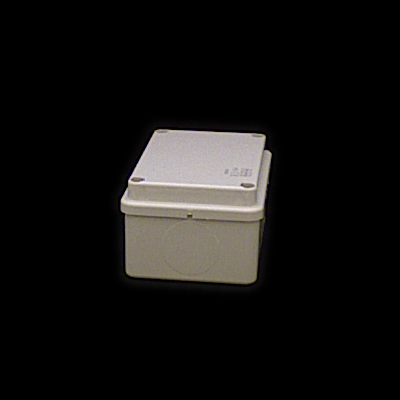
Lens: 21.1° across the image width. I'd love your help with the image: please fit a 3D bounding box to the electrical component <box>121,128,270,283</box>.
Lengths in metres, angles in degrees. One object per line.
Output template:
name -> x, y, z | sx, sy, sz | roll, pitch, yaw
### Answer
electrical component -> 0.000, 0.000, 0.639 | 0.078, 0.058, 0.112 | 3, 21, 5
